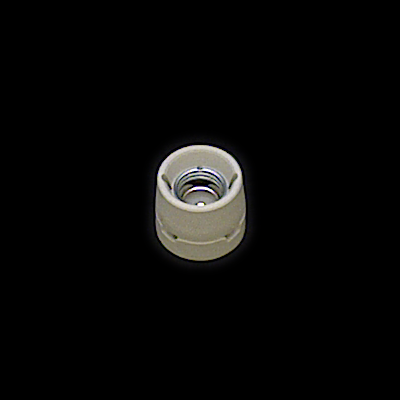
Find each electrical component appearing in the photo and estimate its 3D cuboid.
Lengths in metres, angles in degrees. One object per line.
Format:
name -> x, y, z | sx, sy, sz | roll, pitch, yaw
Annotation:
electrical component -> 0.000, 0.000, 0.634 | 0.055, 0.055, 0.047 | 0, -38, 1
